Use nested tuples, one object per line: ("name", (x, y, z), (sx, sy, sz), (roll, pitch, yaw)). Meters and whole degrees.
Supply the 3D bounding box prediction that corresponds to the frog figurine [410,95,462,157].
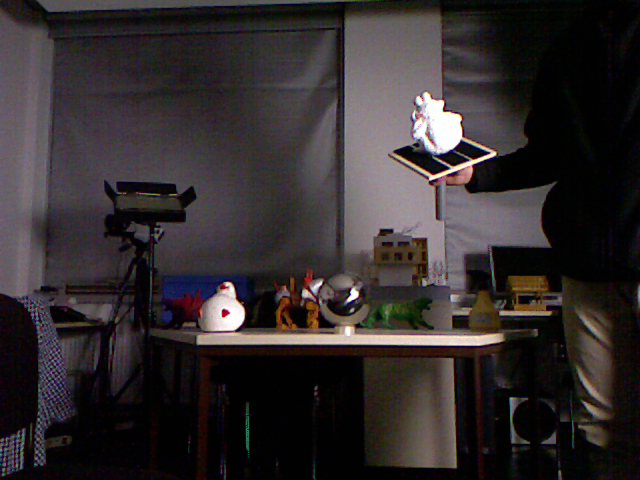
("frog figurine", (0.306, -0.307, 1.372), (0.137, 0.156, 0.126), (-12, 36, 5))
